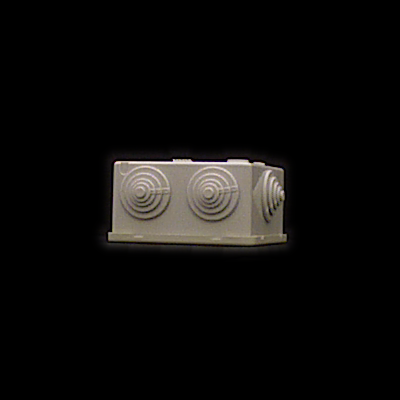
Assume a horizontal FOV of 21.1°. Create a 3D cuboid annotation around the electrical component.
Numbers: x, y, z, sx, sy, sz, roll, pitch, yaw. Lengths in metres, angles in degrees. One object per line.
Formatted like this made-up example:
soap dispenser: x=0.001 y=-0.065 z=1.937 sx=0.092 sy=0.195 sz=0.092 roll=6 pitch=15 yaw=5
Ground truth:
electrical component: x=0.000 y=0.000 z=0.649 sx=0.099 sy=0.048 sz=0.100 roll=1 pitch=0 yaw=17
